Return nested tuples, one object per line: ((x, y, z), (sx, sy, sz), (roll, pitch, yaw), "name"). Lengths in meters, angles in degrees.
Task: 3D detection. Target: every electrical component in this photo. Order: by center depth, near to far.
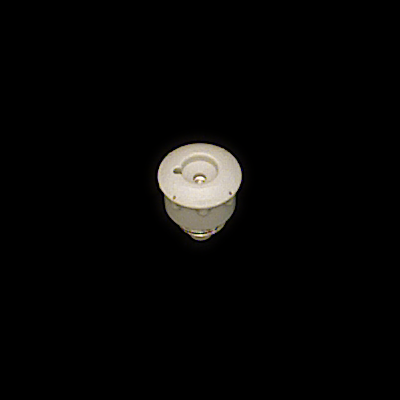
((0.000, 0.000, 0.633), (0.048, 0.048, 0.062), (0, -37, 0), "electrical component")
